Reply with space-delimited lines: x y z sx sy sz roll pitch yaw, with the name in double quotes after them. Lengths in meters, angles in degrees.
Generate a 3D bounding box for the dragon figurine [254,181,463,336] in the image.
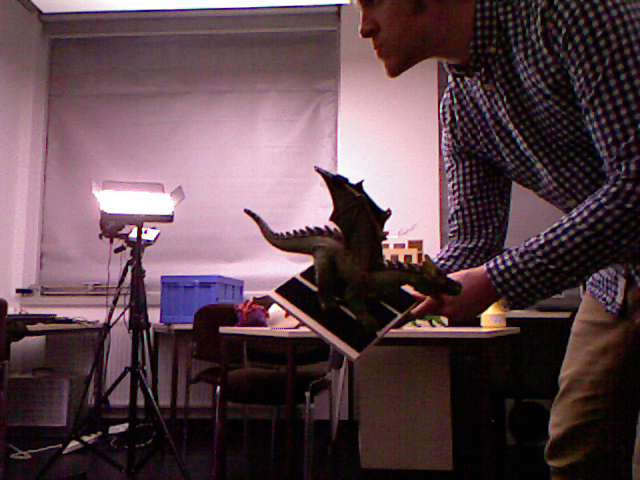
0.035 0.001 0.842 0.414 0.237 0.124 31 47 23 "dragon figurine"
